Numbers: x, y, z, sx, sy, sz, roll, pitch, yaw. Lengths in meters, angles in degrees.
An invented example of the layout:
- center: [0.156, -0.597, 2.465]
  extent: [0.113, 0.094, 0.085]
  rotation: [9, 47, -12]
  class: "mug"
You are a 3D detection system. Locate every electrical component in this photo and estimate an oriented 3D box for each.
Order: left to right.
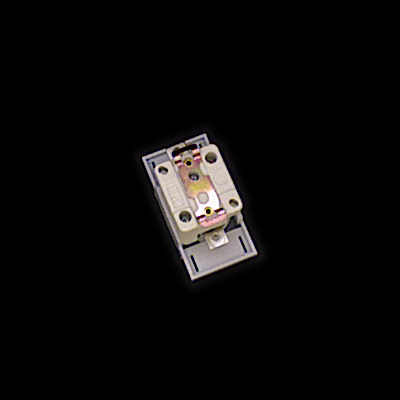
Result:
- center: [0.000, 0.000, 0.625]
  extent: [0.042, 0.081, 0.063]
  rotation: [-22, -16, -7]
  class: "electrical component"
